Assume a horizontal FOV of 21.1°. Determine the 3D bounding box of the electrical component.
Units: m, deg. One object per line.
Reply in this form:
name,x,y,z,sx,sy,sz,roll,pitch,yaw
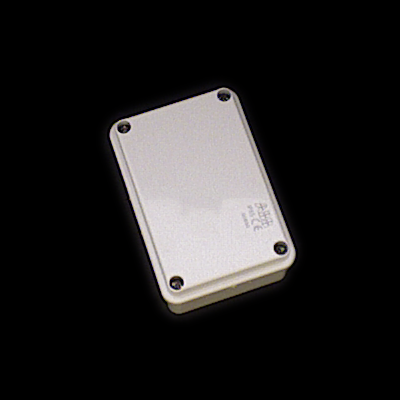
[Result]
electrical component,0.000,0.000,0.627,0.078,0.113,0.057,-18,-16,-5
